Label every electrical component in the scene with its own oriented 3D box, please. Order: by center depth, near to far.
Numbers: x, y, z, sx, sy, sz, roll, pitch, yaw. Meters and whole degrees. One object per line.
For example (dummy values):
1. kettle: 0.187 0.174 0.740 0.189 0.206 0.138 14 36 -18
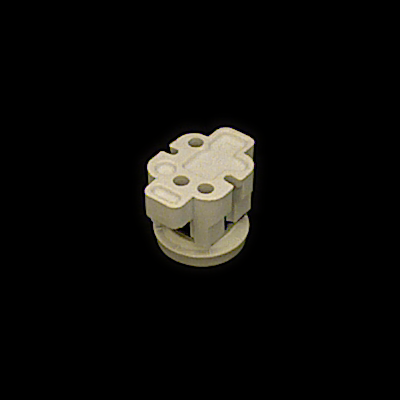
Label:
1. electrical component: 0.000 0.000 0.641 0.057 0.057 0.078 26 47 26
